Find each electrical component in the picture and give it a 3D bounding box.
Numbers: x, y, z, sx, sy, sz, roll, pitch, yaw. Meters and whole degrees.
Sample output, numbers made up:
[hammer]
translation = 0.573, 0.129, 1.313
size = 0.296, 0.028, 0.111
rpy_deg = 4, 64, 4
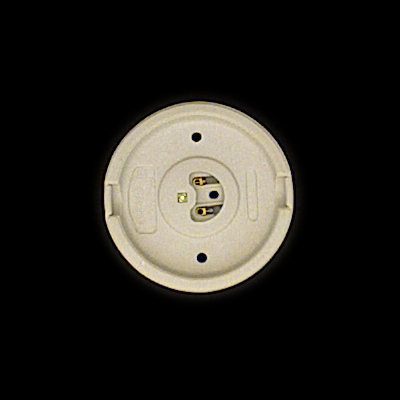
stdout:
[electrical component]
translation = 0.000, 0.000, 0.634
size = 0.108, 0.108, 0.060
rpy_deg = 0, -6, 0
